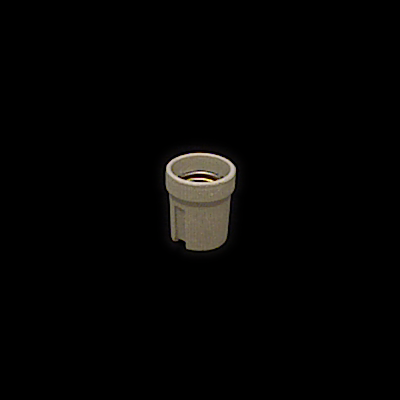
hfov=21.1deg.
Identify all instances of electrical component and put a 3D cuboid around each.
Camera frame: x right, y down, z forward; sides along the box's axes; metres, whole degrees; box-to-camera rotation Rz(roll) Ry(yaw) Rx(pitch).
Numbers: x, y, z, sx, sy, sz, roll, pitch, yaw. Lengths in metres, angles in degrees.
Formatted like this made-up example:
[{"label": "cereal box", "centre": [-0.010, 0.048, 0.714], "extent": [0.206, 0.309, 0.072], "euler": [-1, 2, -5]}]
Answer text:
[{"label": "electrical component", "centre": [0.000, 0.000, 0.637], "extent": [0.040, 0.047, 0.039], "euler": [1, 32, 0]}]
